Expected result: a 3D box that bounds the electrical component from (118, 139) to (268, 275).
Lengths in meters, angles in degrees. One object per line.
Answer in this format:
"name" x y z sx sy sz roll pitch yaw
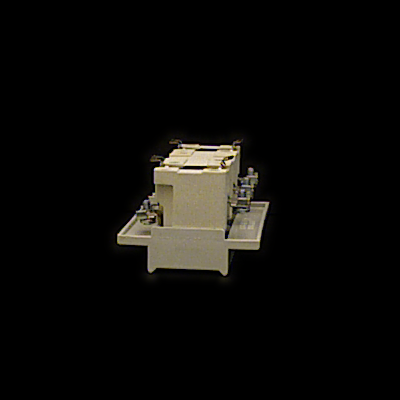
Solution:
"electrical component" 0.000 0.000 0.650 0.078 0.063 0.120 2 10 5
